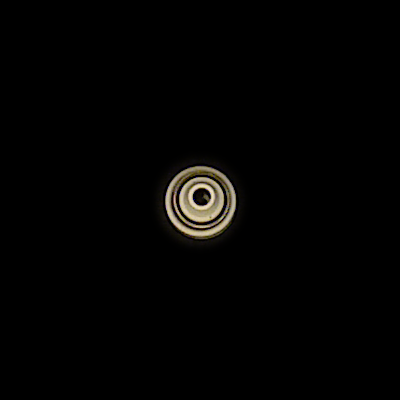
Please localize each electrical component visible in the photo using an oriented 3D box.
[{"bbox_3d":[0.000,0.000,0.635,0.043,0.043,0.062,0,-5,0],"label":"electrical component"}]
